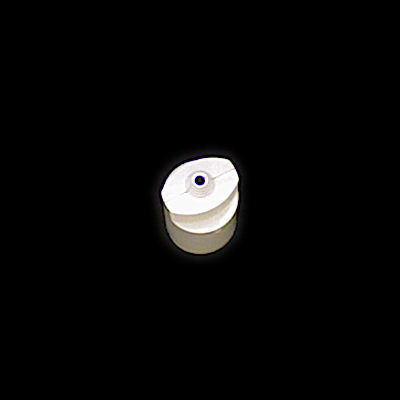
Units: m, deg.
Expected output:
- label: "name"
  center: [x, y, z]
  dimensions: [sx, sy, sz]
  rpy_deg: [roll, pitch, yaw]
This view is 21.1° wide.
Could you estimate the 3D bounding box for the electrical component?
- label: "electrical component"
  center: [0.000, 0.000, 0.616]
  dimensions: [0.043, 0.043, 0.080]
  rpy_deg: [0, -17, 1]
